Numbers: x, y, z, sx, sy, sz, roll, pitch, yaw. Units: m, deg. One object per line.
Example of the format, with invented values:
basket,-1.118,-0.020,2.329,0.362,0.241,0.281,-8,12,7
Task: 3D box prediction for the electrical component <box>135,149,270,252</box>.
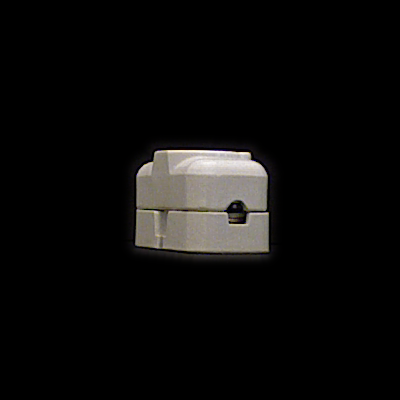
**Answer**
electrical component,0.000,0.000,0.657,0.054,0.059,0.094,0,2,-29
